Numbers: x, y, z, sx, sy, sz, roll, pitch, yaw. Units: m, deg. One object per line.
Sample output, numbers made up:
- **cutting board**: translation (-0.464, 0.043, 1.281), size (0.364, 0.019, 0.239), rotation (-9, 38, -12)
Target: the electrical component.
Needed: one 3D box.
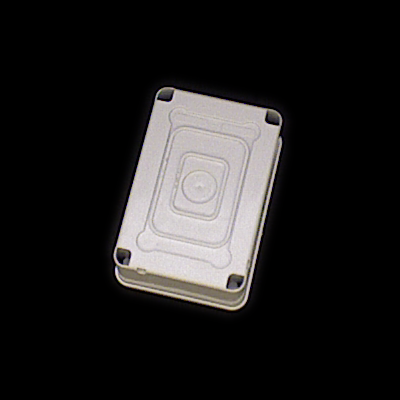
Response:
- **electrical component**: translation (0.000, 0.000, 0.627), size (0.078, 0.113, 0.057), rotation (13, -17, 4)
